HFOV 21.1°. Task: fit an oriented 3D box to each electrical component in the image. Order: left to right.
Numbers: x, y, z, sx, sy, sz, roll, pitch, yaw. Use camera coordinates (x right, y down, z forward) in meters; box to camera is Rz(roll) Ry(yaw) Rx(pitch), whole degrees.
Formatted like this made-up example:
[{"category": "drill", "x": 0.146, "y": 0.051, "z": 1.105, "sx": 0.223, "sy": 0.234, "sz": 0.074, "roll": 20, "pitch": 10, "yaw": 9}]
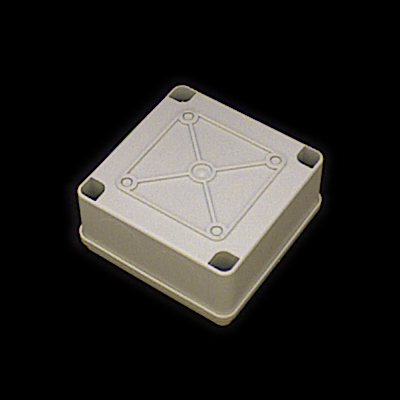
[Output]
[{"category": "electrical component", "x": 0.000, "y": 0.000, "z": 0.630, "sx": 0.108, "sy": 0.108, "sz": 0.056, "roll": 28, "pitch": -33, "yaw": 20}]
